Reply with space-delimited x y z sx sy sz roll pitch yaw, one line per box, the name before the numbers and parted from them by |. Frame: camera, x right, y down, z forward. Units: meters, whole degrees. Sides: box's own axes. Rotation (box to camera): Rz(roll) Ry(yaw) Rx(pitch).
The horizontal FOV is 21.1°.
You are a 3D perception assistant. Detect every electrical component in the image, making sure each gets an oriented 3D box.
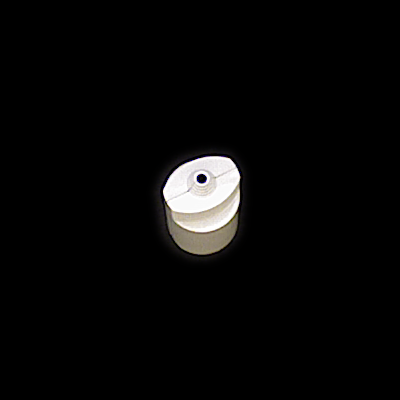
electrical component | 0.000 0.000 0.616 0.043 0.043 0.080 0 -17 0
